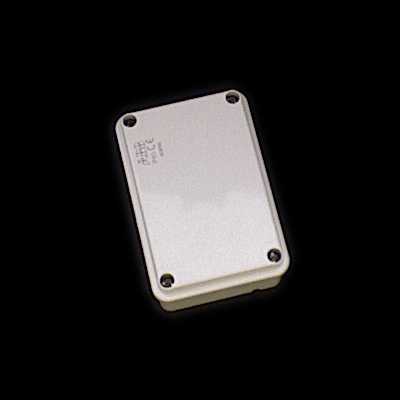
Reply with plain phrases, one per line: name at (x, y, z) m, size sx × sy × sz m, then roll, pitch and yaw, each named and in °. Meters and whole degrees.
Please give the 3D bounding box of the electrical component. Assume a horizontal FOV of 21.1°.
electrical component at (0.000, 0.000, 0.626) m, size 0.078 × 0.113 × 0.057 m, roll -13°, pitch -16°, yaw -4°
